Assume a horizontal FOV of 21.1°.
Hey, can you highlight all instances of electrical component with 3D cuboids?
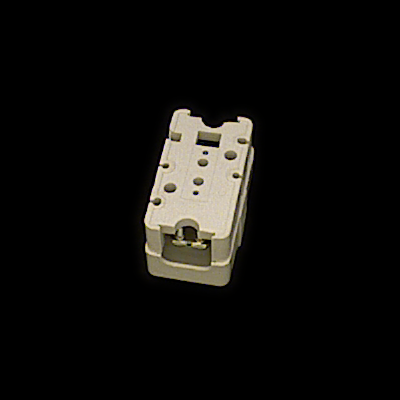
[{"bbox_3d":[0.000,0.000,0.637,0.050,0.089,0.056,8,-37,7],"label":"electrical component"}]
